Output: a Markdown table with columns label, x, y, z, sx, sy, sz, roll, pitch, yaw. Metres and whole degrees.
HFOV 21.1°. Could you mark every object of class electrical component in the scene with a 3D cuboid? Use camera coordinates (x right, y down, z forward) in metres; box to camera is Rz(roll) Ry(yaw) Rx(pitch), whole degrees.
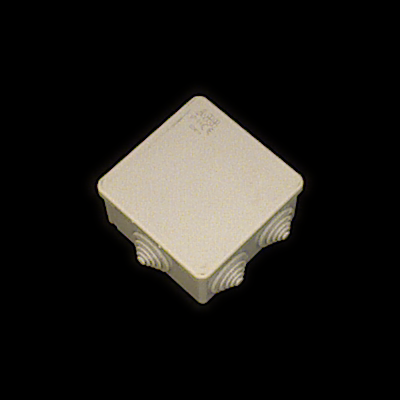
| label | x | y | z | sx | sy | sz | roll | pitch | yaw |
| --- | --- | --- | --- | --- | --- | --- | --- | --- | --- |
| electrical component | 0.000 | 0.000 | 0.640 | 0.099 | 0.100 | 0.048 | 41 | -20 | 18 |
